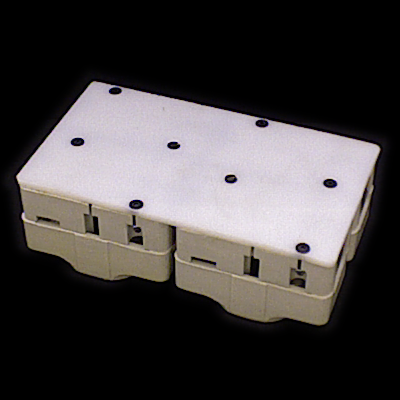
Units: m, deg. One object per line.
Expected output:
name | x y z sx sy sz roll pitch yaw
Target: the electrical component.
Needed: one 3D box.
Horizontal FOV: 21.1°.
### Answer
electrical component | 0.000 0.000 0.630 0.186 0.061 0.105 14 44 15
